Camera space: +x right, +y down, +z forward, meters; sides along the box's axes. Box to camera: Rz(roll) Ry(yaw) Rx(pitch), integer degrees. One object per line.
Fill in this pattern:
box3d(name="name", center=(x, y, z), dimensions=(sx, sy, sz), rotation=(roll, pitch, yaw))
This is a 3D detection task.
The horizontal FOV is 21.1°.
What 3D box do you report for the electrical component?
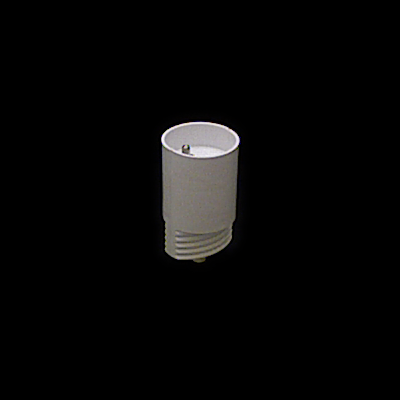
box3d(name="electrical component", center=(0.000, 0.000, 0.625), dimensions=(0.043, 0.082, 0.042), rotation=(0, 31, 0))
